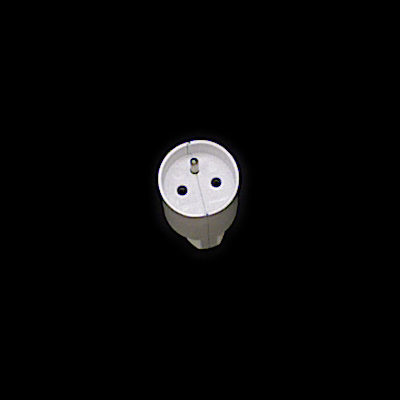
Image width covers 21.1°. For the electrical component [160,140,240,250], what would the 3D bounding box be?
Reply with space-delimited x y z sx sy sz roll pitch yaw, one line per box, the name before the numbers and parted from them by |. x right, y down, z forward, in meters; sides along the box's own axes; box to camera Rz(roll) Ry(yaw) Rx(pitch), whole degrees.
electrical component | 0.000 0.000 0.615 0.043 0.043 0.080 0 -18 0
